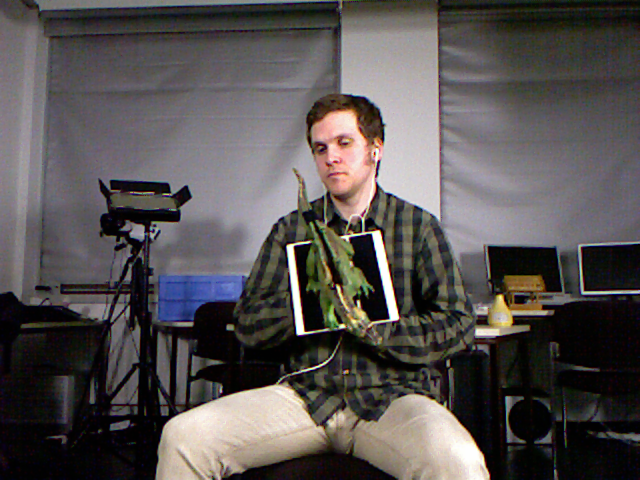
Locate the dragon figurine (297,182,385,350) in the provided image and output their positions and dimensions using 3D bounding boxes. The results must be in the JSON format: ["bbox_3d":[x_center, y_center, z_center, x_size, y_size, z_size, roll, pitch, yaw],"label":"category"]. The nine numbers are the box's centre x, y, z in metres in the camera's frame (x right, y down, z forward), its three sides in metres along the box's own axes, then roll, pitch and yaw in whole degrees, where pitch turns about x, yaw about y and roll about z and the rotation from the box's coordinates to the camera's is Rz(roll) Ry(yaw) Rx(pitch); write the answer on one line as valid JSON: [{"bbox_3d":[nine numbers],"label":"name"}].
[{"bbox_3d":[0.013,0.018,0.944,0.123,0.418,0.239,-23,-23,-4],"label":"dragon figurine"}]
